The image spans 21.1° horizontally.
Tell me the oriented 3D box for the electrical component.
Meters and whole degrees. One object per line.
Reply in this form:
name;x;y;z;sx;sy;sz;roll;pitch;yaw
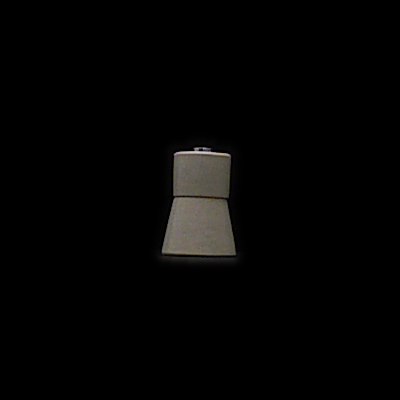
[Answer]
electrical component;0.000;0.000;0.649;0.044;0.065;0.044;2;1;0
